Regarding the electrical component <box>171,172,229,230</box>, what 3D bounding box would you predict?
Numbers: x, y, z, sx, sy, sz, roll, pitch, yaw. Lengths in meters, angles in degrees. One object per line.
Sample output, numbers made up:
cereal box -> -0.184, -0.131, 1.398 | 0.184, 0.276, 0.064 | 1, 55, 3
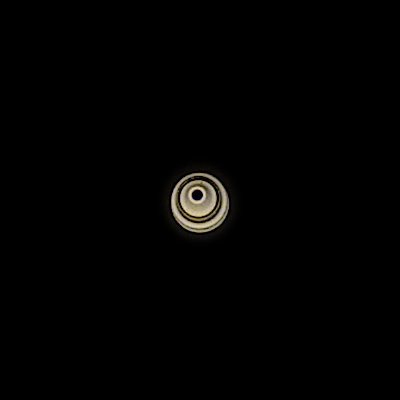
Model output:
electrical component -> 0.000, 0.000, 0.637 | 0.035, 0.035, 0.061 | 0, -7, 2
